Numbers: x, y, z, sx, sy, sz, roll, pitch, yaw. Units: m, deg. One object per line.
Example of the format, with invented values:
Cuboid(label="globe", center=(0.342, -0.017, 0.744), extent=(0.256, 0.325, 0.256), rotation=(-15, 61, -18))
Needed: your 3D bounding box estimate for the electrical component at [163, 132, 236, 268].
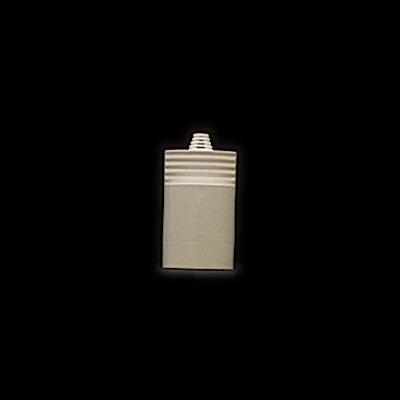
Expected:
Cuboid(label="electrical component", center=(0.000, 0.000, 0.649), extent=(0.043, 0.081, 0.043), rotation=(1, 1, 0))
